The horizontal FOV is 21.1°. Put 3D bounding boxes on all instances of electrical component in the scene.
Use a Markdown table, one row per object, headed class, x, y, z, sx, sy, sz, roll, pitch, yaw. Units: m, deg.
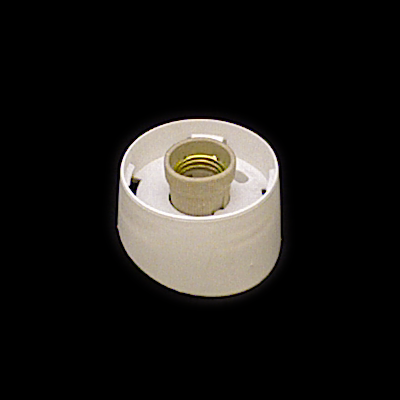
| class | x | y | z | sx | sy | sz | roll | pitch | yaw |
| --- | --- | --- | --- | --- | --- | --- | --- | --- | --- |
| electrical component | 0.000 | 0.000 | 0.629 | 0.099 | 0.065 | 0.098 | 1 | 42 | 0 |
